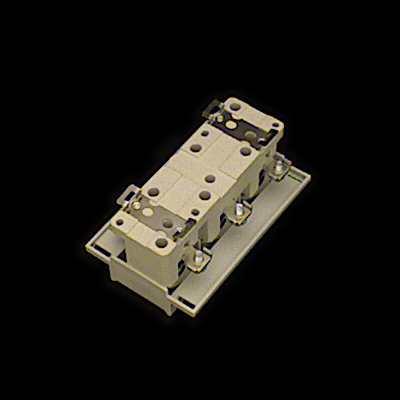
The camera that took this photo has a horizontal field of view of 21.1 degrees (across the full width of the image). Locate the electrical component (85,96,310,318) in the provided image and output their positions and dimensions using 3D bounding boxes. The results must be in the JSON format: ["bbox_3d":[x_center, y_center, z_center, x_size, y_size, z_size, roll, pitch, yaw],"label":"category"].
[{"bbox_3d":[0.000,0.000,0.635,0.078,0.122,0.063,30,-32,21],"label":"electrical component"}]
